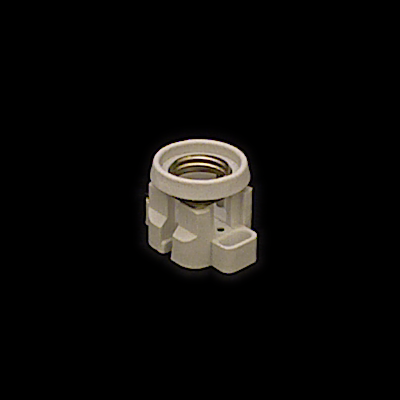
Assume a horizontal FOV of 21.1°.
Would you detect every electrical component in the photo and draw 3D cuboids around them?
[{"bbox_3d":[0.000,0.000,0.635,0.058,0.057,0.077,-25,40,-35],"label":"electrical component"}]
